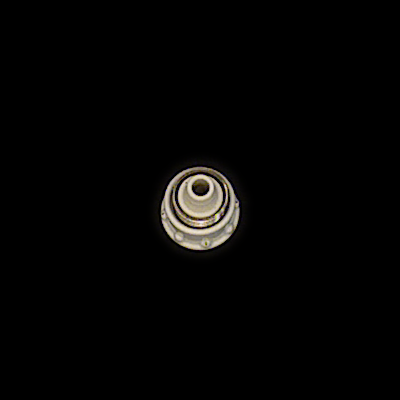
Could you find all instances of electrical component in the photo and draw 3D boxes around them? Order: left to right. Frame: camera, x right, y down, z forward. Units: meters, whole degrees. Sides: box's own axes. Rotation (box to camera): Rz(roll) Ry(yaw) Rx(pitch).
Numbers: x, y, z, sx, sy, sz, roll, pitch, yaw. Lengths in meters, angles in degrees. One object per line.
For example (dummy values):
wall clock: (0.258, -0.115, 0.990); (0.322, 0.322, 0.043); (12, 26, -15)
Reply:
electrical component: (0.000, 0.000, 0.633); (0.048, 0.048, 0.061); (0, -15, -1)
